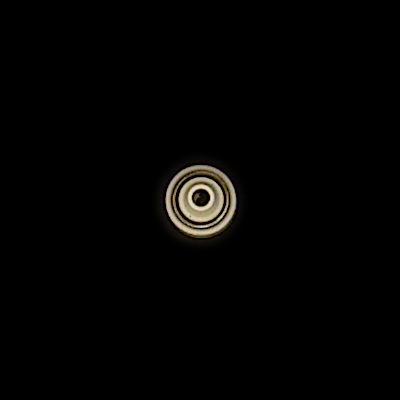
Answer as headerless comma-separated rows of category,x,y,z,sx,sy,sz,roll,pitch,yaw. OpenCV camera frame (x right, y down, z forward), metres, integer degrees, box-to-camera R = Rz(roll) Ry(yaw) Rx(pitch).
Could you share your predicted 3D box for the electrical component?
electrical component,0.000,0.000,0.635,0.043,0.043,0.062,0,-4,1
